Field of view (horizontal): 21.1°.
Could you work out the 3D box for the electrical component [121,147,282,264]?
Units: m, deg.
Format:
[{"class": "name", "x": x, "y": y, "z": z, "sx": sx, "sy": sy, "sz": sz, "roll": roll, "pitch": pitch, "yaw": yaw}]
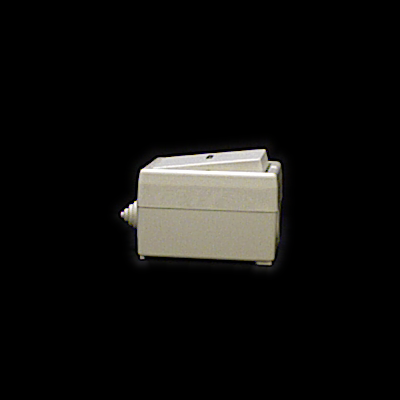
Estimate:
[{"class": "electrical component", "x": 0.000, "y": 0.000, "z": 0.644, "sx": 0.096, "sy": 0.061, "sz": 0.061, "roll": 2, "pitch": 11, "yaw": 6}]
